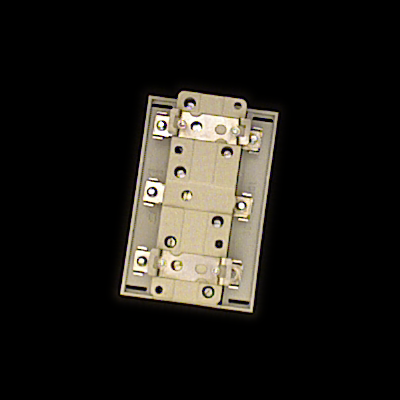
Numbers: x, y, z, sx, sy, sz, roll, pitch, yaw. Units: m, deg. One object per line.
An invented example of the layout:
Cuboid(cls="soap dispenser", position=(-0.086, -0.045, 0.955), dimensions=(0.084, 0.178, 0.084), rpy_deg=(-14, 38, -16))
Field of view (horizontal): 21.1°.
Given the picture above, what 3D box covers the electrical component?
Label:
Cuboid(cls="electrical component", position=(0.000, 0.000, 0.635), dimensions=(0.079, 0.122, 0.063), rpy_deg=(7, -6, 0))
